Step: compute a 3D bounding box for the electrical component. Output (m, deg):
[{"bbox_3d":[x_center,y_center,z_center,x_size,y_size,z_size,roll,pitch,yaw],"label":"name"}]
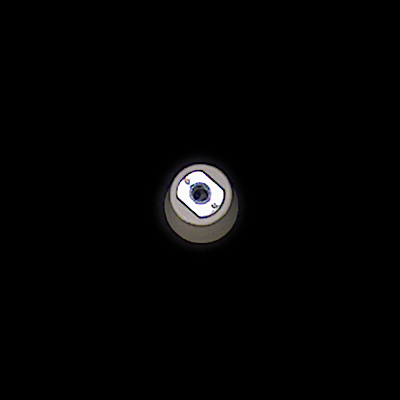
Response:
[{"bbox_3d":[0.000,0.000,0.626,0.044,0.044,0.065,0,-7,0],"label":"electrical component"}]
